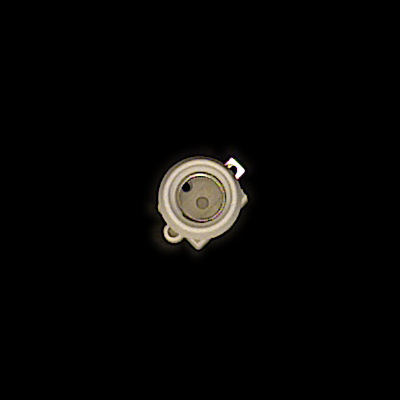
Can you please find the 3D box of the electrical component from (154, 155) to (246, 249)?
[{"bbox_3d":[0.000,0.000,0.639,0.048,0.066,0.055,44,-4,3],"label":"electrical component"}]
